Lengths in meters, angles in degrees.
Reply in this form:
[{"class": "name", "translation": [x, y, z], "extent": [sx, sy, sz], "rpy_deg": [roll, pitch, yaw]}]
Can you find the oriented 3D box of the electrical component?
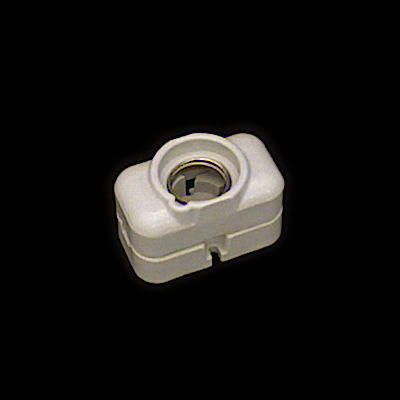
[{"class": "electrical component", "translation": [0.000, 0.000, 0.634], "extent": [0.095, 0.053, 0.059], "rpy_deg": [-19, -35, -14]}]
